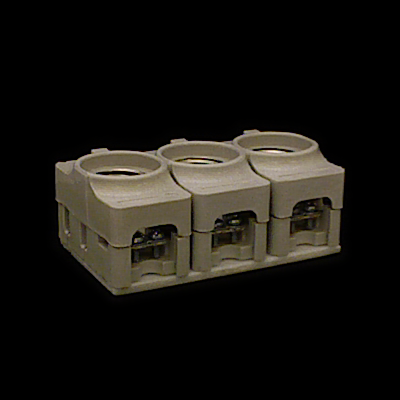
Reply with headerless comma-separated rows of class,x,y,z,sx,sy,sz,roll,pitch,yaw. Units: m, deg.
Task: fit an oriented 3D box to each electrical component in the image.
electrical component,0.000,0.000,0.646,0.150,0.063,0.088,-9,22,-26
